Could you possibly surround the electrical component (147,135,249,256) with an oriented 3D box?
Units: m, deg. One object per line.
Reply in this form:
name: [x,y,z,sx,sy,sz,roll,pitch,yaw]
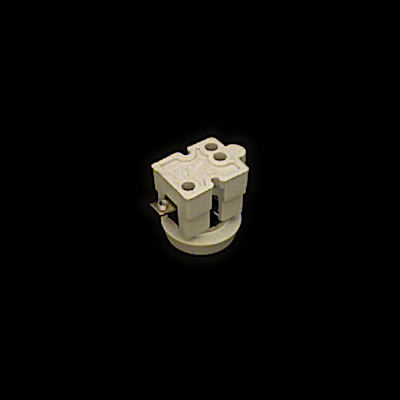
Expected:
electrical component: [0.000,0.000,0.641,0.067,0.056,0.048,-26,50,-25]
